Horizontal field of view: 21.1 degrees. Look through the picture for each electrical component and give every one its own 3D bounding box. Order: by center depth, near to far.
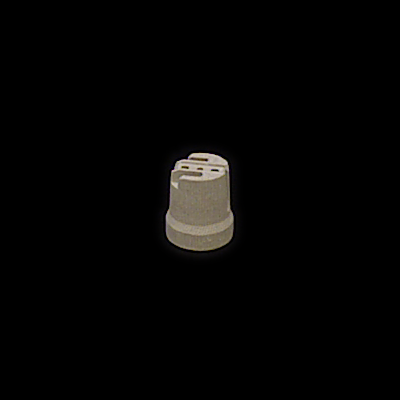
[{"bbox_3d":[0.000,0.000,0.639,0.040,0.046,0.040,1,32,0],"label":"electrical component"}]
